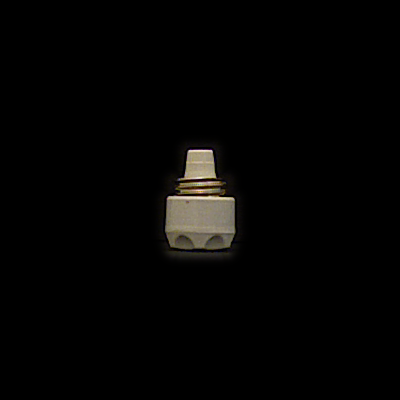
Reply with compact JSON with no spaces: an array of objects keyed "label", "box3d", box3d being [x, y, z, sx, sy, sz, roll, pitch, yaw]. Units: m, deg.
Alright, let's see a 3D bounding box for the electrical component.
[{"label":"electrical component","box3d":[0.000,0.000,0.656,0.043,0.062,0.043,0,2,1]}]
